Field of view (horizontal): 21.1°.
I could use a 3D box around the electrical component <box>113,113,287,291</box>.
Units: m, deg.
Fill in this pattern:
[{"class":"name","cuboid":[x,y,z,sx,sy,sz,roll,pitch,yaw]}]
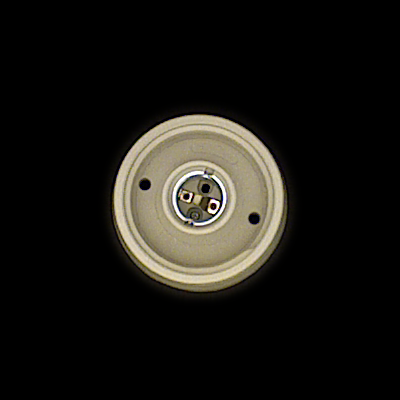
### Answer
[{"class":"electrical component","cuboid":[0.000,0.000,0.634,0.108,0.108,0.060,0,-6,0]}]
